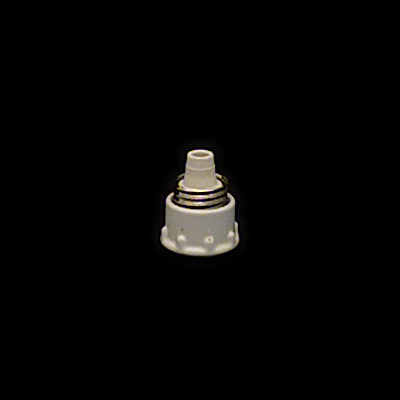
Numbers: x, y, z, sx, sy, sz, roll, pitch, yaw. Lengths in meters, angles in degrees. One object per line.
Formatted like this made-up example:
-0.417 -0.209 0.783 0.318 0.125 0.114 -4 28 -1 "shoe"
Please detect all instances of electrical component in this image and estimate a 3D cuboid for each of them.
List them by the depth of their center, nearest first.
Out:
0.000 0.000 0.644 0.048 0.063 0.047 0 23 0 "electrical component"
